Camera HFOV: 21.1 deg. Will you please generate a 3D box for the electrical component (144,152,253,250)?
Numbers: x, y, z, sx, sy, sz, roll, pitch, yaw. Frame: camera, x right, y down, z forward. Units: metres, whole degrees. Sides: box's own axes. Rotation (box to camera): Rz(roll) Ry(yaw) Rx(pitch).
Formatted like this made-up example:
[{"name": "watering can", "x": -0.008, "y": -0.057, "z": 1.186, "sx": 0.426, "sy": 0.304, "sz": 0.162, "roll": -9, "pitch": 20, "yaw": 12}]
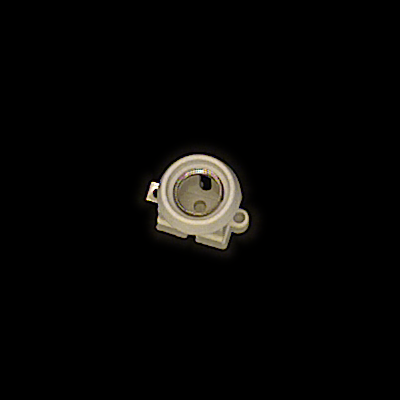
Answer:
[{"name": "electrical component", "x": 0.000, "y": 0.000, "z": 0.637, "sx": 0.066, "sy": 0.049, "sz": 0.055, "roll": 15, "pitch": -17, "yaw": 4}]
